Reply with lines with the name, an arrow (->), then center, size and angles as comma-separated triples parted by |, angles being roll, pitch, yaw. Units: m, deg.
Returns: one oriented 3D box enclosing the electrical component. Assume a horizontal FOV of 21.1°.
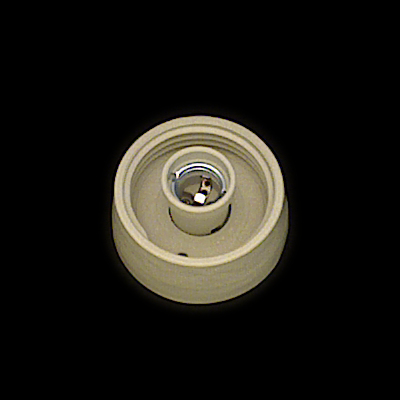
electrical component -> 0.000, 0.000, 0.633 | 0.108, 0.108, 0.060 | 0, -26, 0
